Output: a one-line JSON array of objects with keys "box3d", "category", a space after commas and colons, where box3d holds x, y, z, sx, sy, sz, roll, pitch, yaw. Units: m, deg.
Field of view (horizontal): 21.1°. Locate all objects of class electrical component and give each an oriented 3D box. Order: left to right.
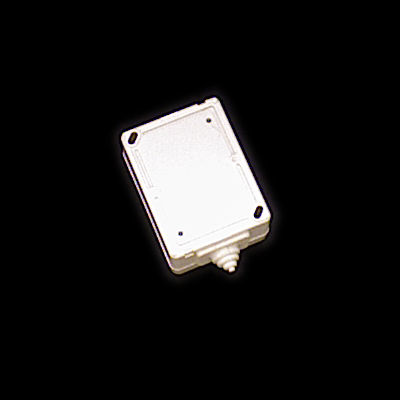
[{"box3d": [0.000, 0.000, 0.627, 0.062, 0.096, 0.060, -22, -15, -6], "category": "electrical component"}]
